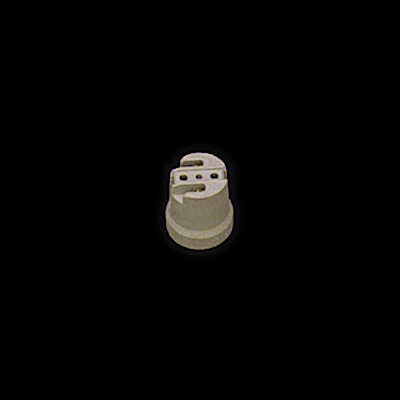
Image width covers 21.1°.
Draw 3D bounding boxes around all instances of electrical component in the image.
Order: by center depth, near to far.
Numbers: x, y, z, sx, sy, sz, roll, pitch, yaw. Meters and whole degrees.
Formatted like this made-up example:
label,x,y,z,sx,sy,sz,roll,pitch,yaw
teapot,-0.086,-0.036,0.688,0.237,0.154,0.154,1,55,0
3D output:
label,x,y,z,sx,sy,sz,roll,pitch,yaw
electrical component,0.000,0.000,0.634,0.040,0.040,0.046,0,-38,-1
